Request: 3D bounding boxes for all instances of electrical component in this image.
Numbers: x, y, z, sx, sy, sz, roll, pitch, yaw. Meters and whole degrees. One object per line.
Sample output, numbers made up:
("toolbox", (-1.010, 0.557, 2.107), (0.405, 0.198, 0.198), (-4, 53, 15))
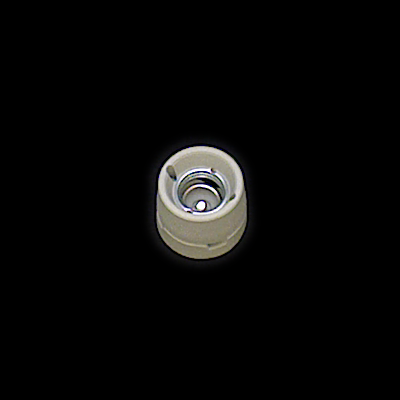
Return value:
("electrical component", (0.000, 0.000, 0.633), (0.055, 0.055, 0.047), (0, -28, 1))
